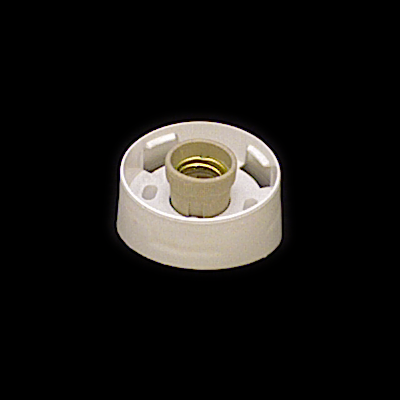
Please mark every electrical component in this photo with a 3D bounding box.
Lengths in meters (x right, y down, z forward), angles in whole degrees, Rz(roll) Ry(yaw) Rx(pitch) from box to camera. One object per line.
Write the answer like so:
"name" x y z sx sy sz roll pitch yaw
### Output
"electrical component" 0.000 0.000 0.629 0.099 0.064 0.098 1 41 0
